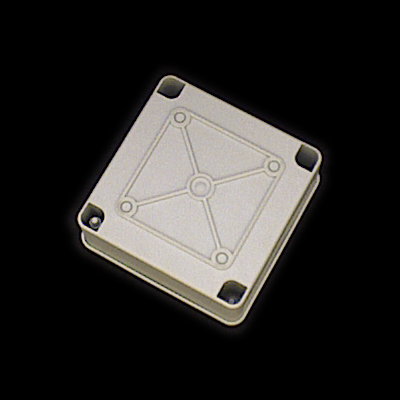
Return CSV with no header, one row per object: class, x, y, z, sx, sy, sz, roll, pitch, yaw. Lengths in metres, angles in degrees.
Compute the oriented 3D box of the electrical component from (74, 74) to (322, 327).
electrical component,0.000,0.000,0.627,0.108,0.109,0.056,28,-15,9
